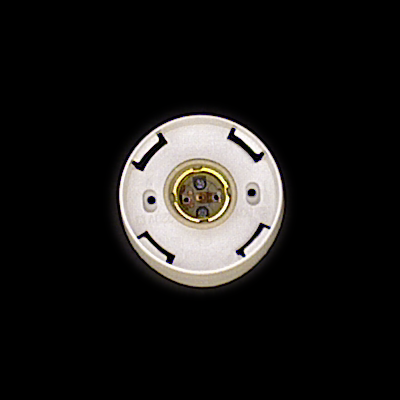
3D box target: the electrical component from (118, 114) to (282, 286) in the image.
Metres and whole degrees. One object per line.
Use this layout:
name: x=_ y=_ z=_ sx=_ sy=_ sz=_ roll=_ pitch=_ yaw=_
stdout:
electrical component: x=0.000 y=0.000 z=0.626 sx=0.099 sy=0.099 sz=0.064 roll=0 pitch=-6 yaw=0
